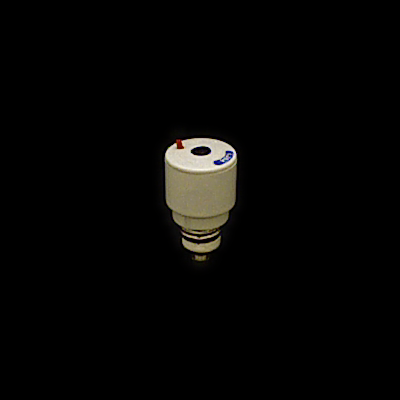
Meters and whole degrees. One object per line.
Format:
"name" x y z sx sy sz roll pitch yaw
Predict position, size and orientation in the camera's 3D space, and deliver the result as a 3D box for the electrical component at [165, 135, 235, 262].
"electrical component" 0.000 0.000 0.631 0.040 0.079 0.039 0 31 0
